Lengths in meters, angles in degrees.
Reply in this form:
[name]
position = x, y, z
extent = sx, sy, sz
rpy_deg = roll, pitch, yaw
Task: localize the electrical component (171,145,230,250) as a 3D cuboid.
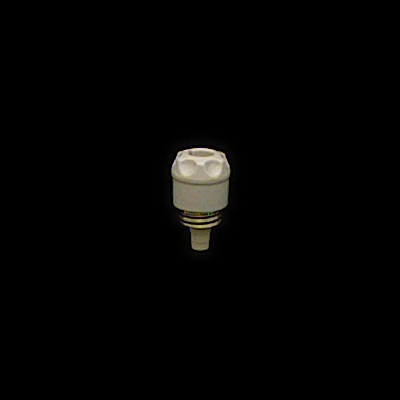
[electrical component]
position = 0.000, 0.000, 0.648
extent = 0.035, 0.062, 0.034
rpy_deg = 1, 22, 0
